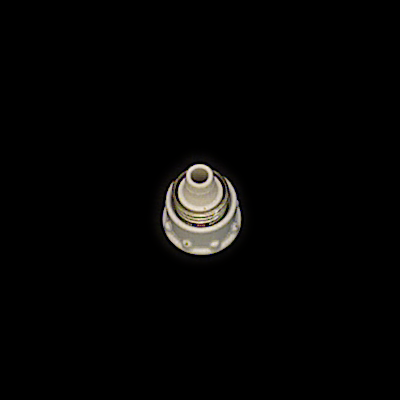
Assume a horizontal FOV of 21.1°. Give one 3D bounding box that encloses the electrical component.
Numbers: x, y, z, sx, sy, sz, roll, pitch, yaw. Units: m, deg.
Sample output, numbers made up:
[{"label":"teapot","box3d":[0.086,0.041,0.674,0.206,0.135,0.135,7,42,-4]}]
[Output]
[{"label":"electrical component","box3d":[0.000,0.000,0.634,0.048,0.048,0.062,0,-28,1]}]
